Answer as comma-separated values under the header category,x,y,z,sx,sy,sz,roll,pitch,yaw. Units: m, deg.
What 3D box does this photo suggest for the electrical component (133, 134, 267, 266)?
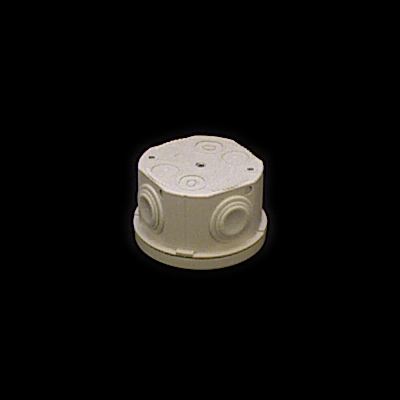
category,x,y,z,sx,sy,sz,roll,pitch,yaw
electrical component,0.000,0.000,0.637,0.080,0.051,0.079,0,31,0
